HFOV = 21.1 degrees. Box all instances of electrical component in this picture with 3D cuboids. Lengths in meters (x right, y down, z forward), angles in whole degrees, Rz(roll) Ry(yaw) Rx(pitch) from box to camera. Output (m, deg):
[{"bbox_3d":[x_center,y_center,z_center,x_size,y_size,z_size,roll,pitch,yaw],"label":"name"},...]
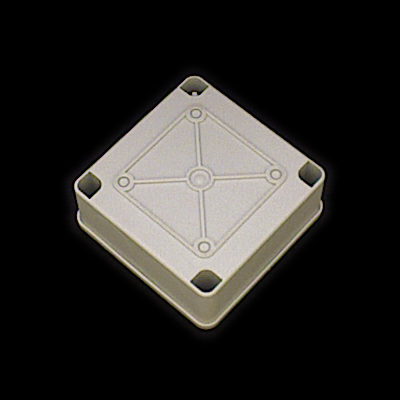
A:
[{"bbox_3d":[0.000,0.000,0.629,0.108,0.109,0.056,38,-22,18],"label":"electrical component"}]
